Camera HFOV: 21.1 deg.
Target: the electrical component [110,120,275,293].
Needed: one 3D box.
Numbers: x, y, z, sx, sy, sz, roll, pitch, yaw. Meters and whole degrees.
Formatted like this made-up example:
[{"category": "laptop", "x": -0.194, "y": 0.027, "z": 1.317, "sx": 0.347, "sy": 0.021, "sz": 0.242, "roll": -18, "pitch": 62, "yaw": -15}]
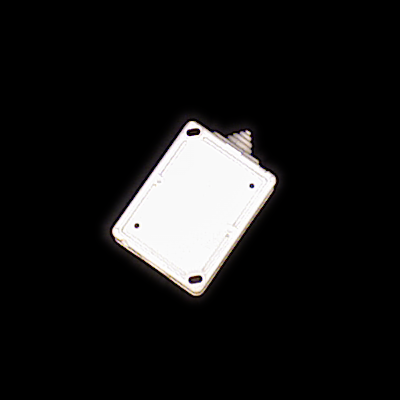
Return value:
[{"category": "electrical component", "x": 0.000, "y": 0.000, "z": 0.629, "sx": 0.062, "sy": 0.096, "sz": 0.061, "roll": 34, "pitch": -6, "yaw": 4}]
